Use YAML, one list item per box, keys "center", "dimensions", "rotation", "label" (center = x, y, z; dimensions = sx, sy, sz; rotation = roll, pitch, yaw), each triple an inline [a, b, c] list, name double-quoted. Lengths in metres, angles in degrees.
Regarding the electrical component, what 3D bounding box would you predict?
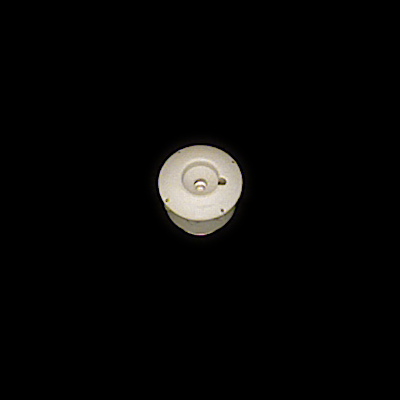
- center: [0.000, 0.000, 0.635]
  dimensions: [0.048, 0.048, 0.062]
  rotation: [0, -27, 0]
  label: "electrical component"
